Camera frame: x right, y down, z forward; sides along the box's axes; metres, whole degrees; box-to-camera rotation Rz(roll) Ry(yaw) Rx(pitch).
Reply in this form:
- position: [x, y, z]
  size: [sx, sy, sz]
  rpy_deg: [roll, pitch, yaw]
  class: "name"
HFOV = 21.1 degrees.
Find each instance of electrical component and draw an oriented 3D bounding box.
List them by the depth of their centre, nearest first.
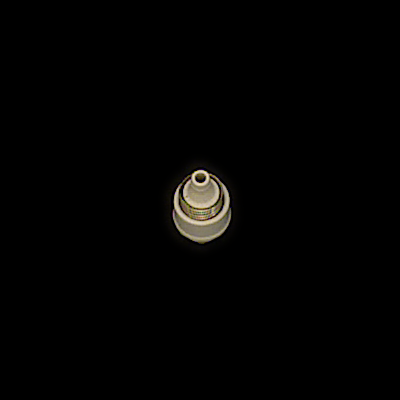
- position: [0.000, 0.000, 0.638]
  size: [0.035, 0.035, 0.061]
  rpy_deg: [0, -25, 2]
  class: "electrical component"
